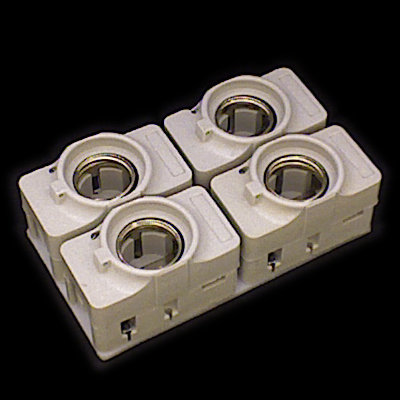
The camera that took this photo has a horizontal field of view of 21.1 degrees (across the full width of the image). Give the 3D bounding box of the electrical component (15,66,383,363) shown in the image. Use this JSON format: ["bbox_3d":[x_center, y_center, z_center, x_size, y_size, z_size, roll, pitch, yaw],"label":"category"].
[{"bbox_3d":[0.000,0.000,0.626,0.186,0.105,0.060,-24,-34,-18],"label":"electrical component"}]
